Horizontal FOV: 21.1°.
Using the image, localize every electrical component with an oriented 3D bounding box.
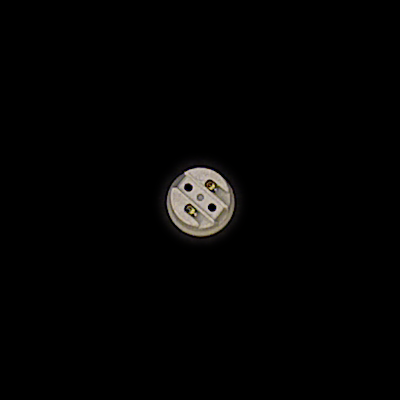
[{"bbox_3d":[0.000,0.000,0.634,0.040,0.040,0.046,0,-6,1],"label":"electrical component"}]
